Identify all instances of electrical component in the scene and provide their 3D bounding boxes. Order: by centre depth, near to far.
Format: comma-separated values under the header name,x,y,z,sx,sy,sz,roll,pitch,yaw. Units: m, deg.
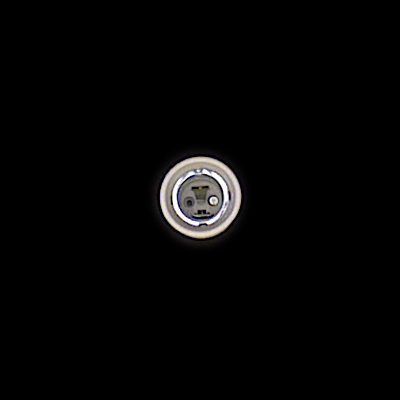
name,x,y,z,sx,sy,sz,roll,pitch,yaw
electrical component,0.000,0.000,0.629,0.045,0.045,0.055,0,-5,1
